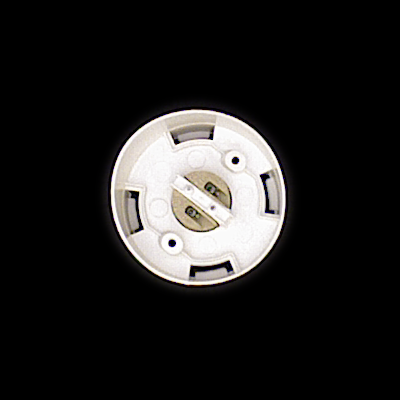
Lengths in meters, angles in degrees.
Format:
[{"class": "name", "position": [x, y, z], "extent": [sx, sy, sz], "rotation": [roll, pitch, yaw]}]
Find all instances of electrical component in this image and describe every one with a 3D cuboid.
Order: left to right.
[{"class": "electrical component", "position": [0.000, 0.000, 0.624], "extent": [0.099, 0.099, 0.064], "rotation": [0, -7, 1]}]
